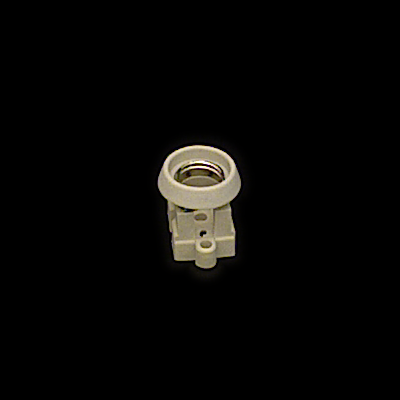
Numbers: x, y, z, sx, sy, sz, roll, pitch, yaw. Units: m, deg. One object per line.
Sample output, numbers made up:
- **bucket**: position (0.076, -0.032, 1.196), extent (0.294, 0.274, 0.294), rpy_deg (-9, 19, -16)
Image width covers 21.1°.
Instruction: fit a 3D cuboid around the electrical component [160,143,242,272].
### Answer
- **electrical component**: position (0.000, 0.000, 0.640), extent (0.048, 0.056, 0.065), rpy_deg (-4, 43, -8)
